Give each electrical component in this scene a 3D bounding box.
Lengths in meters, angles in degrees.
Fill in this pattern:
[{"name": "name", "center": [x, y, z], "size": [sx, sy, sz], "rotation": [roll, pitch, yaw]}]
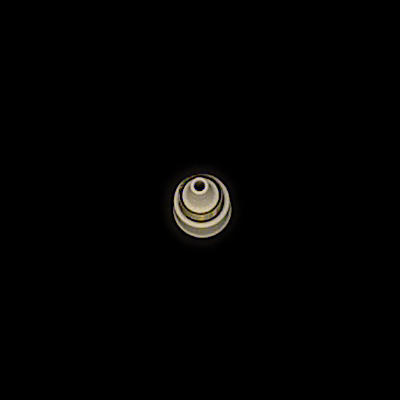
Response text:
[{"name": "electrical component", "center": [0.000, 0.000, 0.636], "size": [0.035, 0.035, 0.061], "rotation": [0, -17, 2]}]
